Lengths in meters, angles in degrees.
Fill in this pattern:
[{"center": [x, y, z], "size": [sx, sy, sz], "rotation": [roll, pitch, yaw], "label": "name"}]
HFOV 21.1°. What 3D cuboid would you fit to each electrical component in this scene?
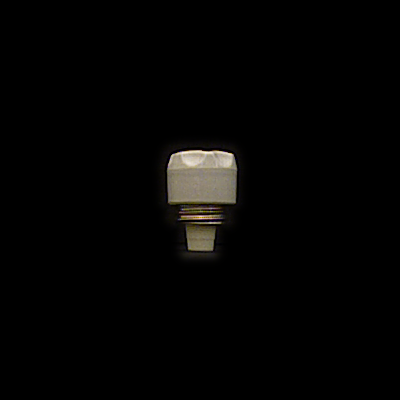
[{"center": [0.000, 0.000, 0.657], "size": [0.043, 0.062, 0.043], "rotation": [1, 1, 1], "label": "electrical component"}]
